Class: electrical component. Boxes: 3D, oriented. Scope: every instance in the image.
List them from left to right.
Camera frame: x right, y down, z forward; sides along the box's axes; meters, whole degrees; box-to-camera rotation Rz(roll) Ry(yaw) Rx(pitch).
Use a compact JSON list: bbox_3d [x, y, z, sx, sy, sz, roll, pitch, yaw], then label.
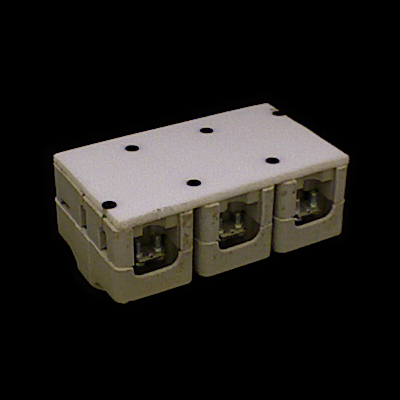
[{"bbox_3d":[0.000,0.000,0.637,0.150,0.063,0.088,-16,35,-25],"label":"electrical component"}]
